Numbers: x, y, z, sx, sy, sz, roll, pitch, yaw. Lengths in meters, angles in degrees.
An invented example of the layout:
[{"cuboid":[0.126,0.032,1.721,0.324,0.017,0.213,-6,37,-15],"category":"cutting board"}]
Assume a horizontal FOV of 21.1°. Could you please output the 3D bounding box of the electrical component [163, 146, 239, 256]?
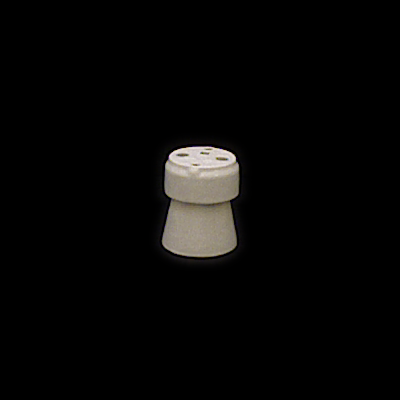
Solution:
[{"cuboid":[0.000,0.000,0.640,0.045,0.056,0.044,1,22,0],"category":"electrical component"}]
